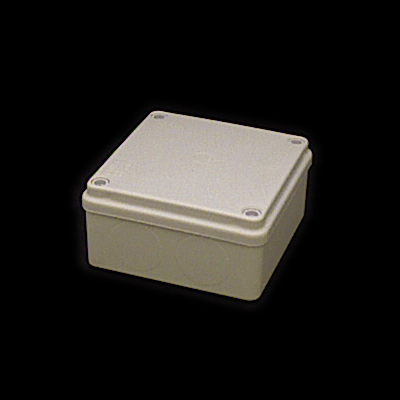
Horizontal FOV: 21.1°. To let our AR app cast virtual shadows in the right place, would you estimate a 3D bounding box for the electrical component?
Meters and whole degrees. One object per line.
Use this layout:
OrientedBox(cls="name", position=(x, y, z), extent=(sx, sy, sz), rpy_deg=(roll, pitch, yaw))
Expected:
OrientedBox(cls="electrical component", position=(0.000, 0.000, 0.636), extent=(0.108, 0.057, 0.107), rpy_deg=(12, 33, 16))
